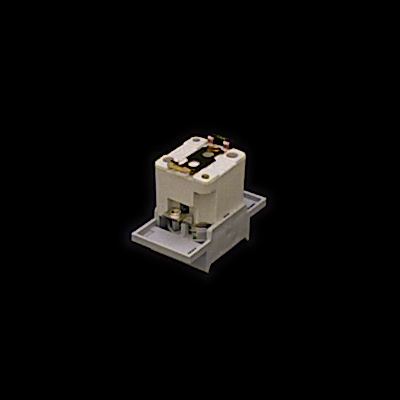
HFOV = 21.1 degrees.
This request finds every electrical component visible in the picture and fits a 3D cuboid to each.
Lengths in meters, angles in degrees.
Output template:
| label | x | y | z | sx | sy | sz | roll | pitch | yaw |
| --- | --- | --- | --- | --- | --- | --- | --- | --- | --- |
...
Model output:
| label | x | y | z | sx | sy | sz | roll | pitch | yaw |
| --- | --- | --- | --- | --- | --- | --- | --- | --- | --- |
| electrical component | 0.000 | 0.000 | 0.633 | 0.042 | 0.064 | 0.080 | 21 | 36 | 29 |
